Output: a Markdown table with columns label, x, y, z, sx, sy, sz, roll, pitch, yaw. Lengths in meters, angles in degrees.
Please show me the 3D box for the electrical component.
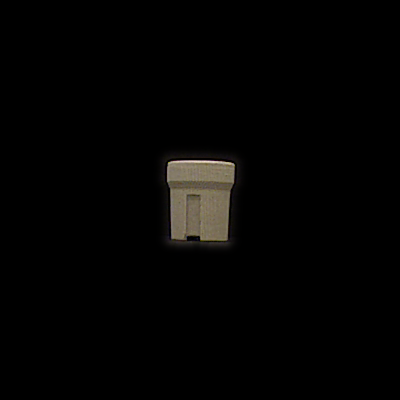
| label | x | y | z | sx | sy | sz | roll | pitch | yaw |
| --- | --- | --- | --- | --- | --- | --- | --- | --- | --- |
| electrical component | 0.000 | 0.000 | 0.651 | 0.040 | 0.046 | 0.040 | 1 | 1 | 0 |
